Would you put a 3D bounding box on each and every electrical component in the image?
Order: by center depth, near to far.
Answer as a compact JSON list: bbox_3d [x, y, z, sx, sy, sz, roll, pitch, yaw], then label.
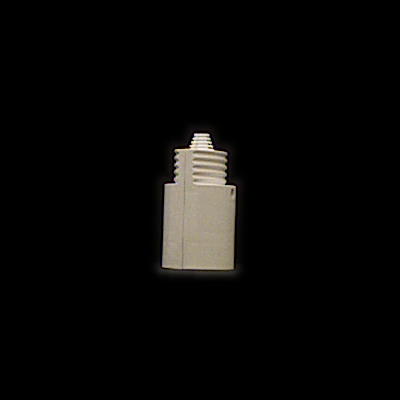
[{"bbox_3d":[0.000,0.000,0.649,0.043,0.081,0.043,1,1,0],"label":"electrical component"}]
